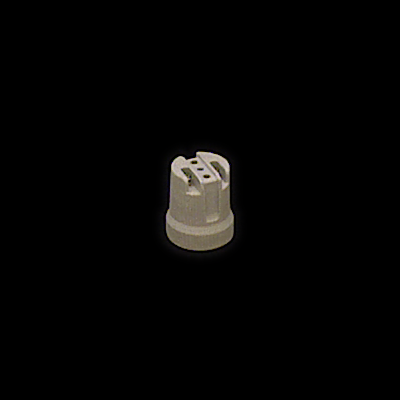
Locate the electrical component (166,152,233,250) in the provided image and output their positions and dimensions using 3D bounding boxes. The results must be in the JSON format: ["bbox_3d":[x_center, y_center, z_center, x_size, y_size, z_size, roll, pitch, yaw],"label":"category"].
[{"bbox_3d":[0.000,0.000,0.637,0.040,0.046,0.040,0,32,0],"label":"electrical component"}]
